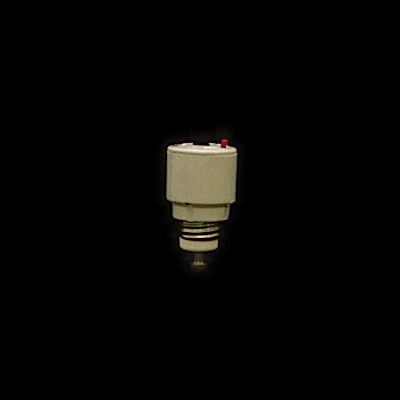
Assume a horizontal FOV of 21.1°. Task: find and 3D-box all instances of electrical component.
[{"bbox_3d":[0.000,0.000,0.641,0.040,0.079,0.040,2,11,0],"label":"electrical component"}]
